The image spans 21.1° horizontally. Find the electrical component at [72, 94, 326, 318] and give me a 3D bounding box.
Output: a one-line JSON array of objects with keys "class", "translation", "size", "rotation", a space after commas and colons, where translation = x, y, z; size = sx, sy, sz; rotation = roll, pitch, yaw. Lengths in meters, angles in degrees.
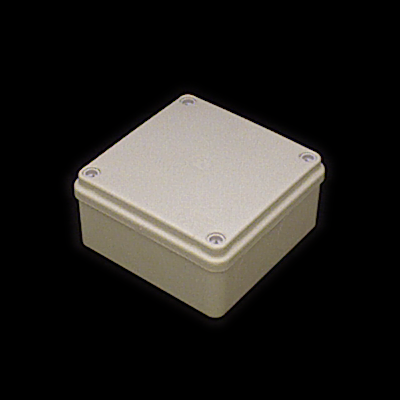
[{"class": "electrical component", "translation": [0.000, 0.000, 0.634], "size": [0.108, 0.057, 0.108], "rotation": [27, 48, 26]}]
